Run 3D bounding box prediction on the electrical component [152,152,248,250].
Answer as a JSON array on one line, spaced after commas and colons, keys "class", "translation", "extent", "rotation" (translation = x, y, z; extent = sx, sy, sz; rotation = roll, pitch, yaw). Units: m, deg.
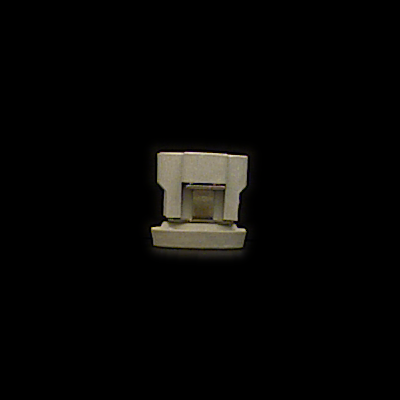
[{"class": "electrical component", "translation": [0.000, 0.000, 0.655], "extent": [0.058, 0.057, 0.078], "rotation": [2, 2, -5]}]
